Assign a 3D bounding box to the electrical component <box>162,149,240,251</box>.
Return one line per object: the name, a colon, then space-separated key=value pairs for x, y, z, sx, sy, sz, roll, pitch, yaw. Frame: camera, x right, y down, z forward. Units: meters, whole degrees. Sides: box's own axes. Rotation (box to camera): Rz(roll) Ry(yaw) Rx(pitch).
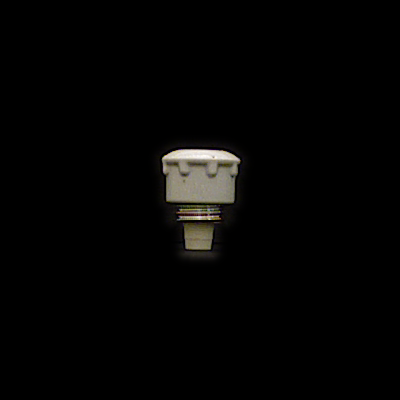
electrical component: x=0.000 y=0.000 z=0.659 sx=0.048 sy=0.062 sz=0.048 roll=1 pitch=2 yaw=0
